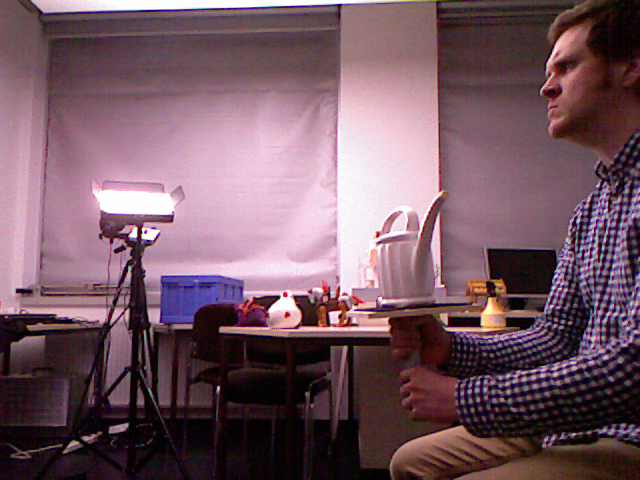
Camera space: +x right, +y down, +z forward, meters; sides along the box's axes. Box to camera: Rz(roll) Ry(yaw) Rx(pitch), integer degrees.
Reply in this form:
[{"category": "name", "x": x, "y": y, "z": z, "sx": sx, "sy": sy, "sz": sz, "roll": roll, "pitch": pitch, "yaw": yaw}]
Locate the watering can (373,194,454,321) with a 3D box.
[{"category": "watering can", "x": 0.168, "y": 0.038, "z": 0.955, "sx": 0.104, "sy": 0.226, "sz": 0.345, "roll": -5, "pitch": -6, "yaw": -12}]
